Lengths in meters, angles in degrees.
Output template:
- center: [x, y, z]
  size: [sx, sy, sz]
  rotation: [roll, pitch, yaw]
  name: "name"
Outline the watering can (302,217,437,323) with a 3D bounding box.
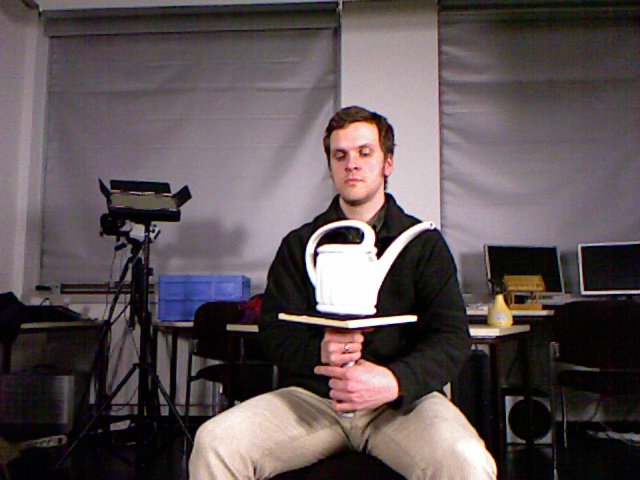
- center: [0.084, 0.064, 1.026]
  size: [0.104, 0.225, 0.347]
  rotation: [-1, -2, -44]
  name: "watering can"
